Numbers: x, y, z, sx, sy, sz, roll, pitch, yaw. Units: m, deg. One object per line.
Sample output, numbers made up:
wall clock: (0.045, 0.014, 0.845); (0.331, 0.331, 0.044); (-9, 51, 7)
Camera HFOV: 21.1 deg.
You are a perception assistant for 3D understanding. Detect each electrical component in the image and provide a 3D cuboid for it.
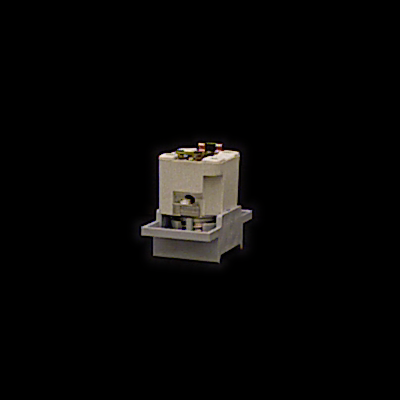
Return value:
electrical component: (0.000, 0.000, 0.643); (0.042, 0.064, 0.080); (5, 11, 19)
